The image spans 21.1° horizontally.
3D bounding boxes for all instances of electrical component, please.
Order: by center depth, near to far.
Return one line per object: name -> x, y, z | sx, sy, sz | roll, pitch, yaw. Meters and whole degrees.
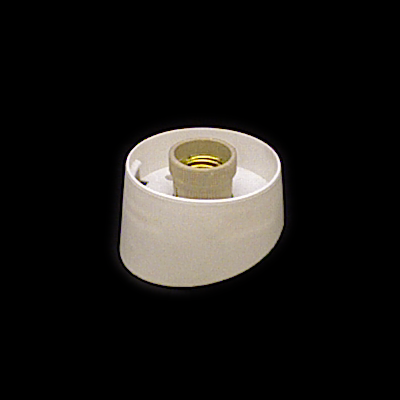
electrical component -> 0.000, 0.000, 0.634 | 0.099, 0.065, 0.097 | 1, 32, 0
